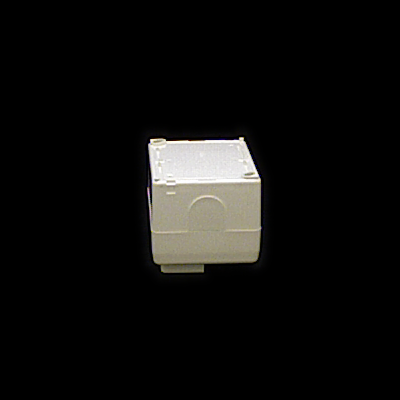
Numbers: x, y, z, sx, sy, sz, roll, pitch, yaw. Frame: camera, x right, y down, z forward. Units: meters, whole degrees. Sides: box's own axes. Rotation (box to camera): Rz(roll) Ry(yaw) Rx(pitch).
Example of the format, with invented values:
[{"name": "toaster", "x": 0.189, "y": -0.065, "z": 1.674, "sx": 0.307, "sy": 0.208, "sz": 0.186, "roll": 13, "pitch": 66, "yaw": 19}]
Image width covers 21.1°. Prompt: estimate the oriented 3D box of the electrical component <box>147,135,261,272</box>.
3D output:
[{"name": "electrical component", "x": 0.000, "y": 0.000, "z": 0.646, "sx": 0.062, "sy": 0.062, "sz": 0.095, "roll": -1, "pitch": 21, "yaw": -4}]
